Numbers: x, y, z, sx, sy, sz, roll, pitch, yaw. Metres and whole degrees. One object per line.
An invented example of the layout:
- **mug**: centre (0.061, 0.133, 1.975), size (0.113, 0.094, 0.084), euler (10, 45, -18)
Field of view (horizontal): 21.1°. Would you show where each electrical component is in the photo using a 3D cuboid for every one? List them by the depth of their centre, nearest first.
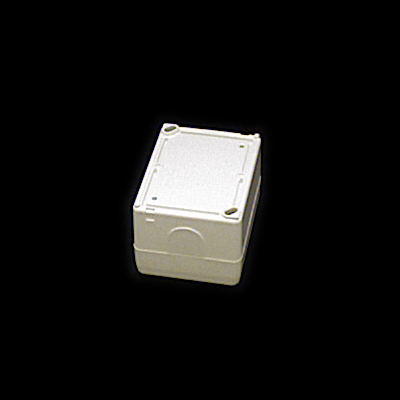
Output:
- **electrical component**: centre (0.001, 0.000, 0.637), size (0.061, 0.062, 0.095), euler (7, 42, 8)
